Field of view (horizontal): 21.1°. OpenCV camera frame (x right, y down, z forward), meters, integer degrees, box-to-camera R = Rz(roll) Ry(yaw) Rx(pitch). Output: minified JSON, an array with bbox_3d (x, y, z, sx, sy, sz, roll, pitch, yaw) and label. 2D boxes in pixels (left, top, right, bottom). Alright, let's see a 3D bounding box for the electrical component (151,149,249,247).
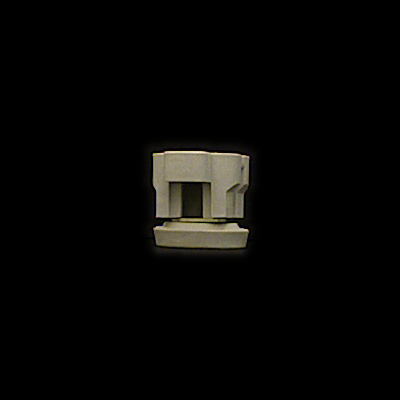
[{"bbox_3d":[0.000,0.000,0.658,0.057,0.057,0.079,1,-1,15],"label":"electrical component"}]
